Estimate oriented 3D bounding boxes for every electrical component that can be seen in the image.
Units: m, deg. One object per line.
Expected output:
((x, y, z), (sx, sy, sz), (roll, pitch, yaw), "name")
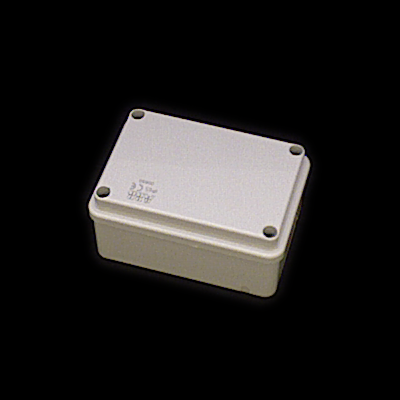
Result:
((0.000, 0.000, 0.627), (0.113, 0.078, 0.057), (13, -37, 9), "electrical component")
